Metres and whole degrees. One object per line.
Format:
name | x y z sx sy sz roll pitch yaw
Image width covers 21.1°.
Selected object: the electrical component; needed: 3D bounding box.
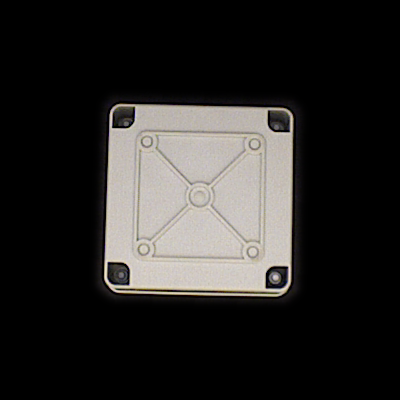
electrical component | 0.000 0.000 0.628 0.109 0.109 0.056 1 -6 0
